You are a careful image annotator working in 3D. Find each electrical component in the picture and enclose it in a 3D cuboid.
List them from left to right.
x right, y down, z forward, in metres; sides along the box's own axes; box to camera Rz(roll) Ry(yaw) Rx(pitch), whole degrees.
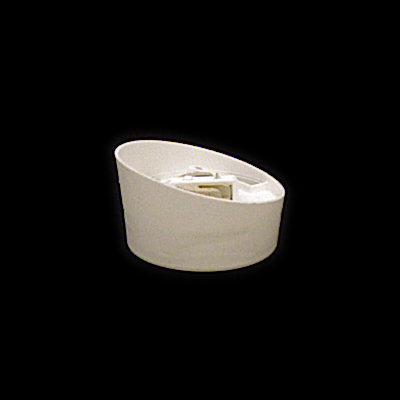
[{"bbox_3d":[0.000,0.000,0.637,0.099,0.065,0.097,0,21,0],"label":"electrical component"}]
